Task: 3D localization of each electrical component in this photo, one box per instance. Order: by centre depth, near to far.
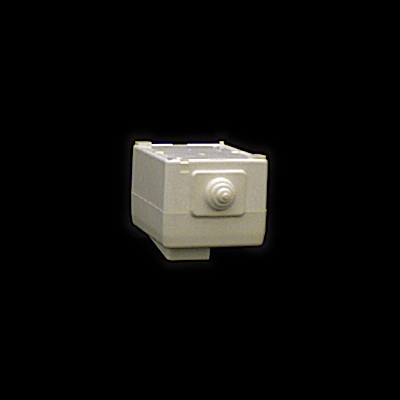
[{"bbox_3d":[0.000,0.000,0.638,0.061,0.061,0.095,-2,10,-18],"label":"electrical component"}]
